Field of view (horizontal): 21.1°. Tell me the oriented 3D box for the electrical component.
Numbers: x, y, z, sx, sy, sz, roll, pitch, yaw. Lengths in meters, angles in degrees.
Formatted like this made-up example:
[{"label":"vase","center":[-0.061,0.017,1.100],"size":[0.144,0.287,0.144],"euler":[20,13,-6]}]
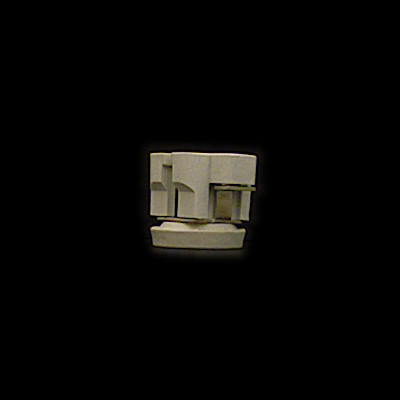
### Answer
[{"label":"electrical component","center":[0.000,0.000,0.656],"size":[0.058,0.057,0.078],"euler":[1,2,-40]}]
